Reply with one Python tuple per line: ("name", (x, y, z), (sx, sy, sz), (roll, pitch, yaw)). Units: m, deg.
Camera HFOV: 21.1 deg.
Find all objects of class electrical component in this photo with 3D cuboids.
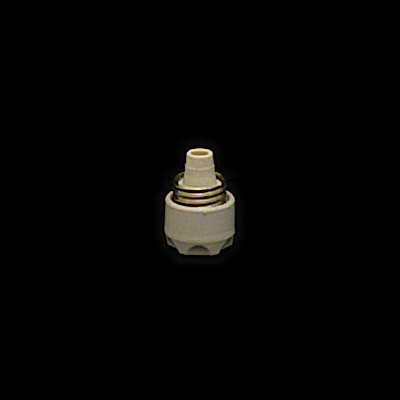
("electrical component", (0.000, 0.000, 0.645), (0.043, 0.063, 0.043), (0, 23, 0))
